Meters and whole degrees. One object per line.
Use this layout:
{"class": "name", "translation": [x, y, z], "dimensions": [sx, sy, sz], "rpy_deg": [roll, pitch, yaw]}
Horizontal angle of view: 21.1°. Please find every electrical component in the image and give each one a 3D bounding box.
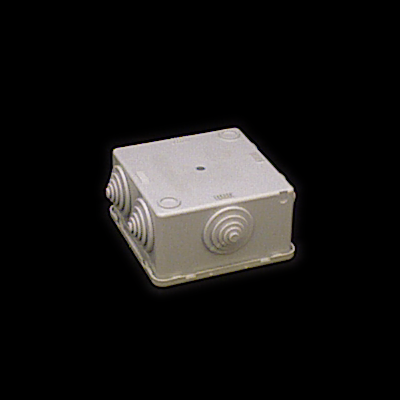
{"class": "electrical component", "translation": [0.000, 0.000, 0.636], "dimensions": [0.100, 0.049, 0.098], "rpy_deg": [-11, 34, -19]}
